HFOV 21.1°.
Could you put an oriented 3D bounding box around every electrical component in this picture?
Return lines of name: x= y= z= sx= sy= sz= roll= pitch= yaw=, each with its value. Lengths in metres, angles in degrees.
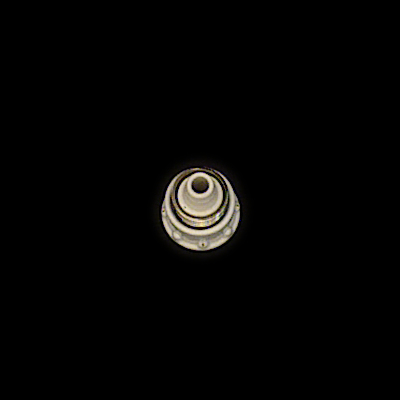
electrical component: x=0.000 y=0.000 z=0.634 sx=0.048 sy=0.048 sz=0.061 roll=0 pitch=-17 yaw=0
